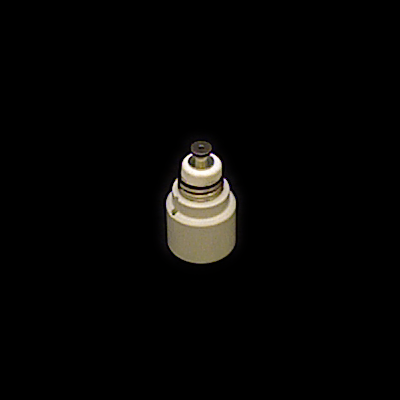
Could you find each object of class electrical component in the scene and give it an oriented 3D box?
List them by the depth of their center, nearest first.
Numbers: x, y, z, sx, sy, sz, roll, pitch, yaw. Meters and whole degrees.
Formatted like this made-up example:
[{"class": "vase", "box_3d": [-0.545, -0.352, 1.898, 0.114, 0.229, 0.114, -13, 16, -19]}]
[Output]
[{"class": "electrical component", "box_3d": [0.000, 0.000, 0.625, 0.040, 0.079, 0.039, 0, 43, 0]}]
